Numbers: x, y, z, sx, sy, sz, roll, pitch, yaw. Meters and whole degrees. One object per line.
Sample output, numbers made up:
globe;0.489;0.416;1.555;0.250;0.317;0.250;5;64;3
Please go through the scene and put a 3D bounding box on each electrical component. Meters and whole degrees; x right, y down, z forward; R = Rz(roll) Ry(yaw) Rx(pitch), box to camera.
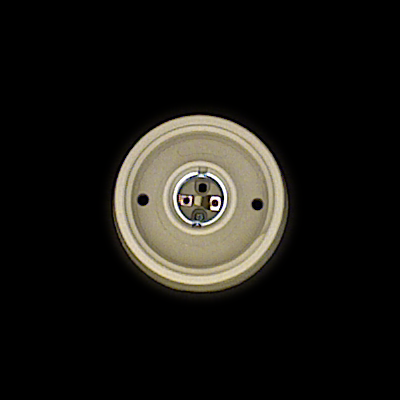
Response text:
electrical component;0.000;0.000;0.634;0.108;0.108;0.060;0;-6;0
